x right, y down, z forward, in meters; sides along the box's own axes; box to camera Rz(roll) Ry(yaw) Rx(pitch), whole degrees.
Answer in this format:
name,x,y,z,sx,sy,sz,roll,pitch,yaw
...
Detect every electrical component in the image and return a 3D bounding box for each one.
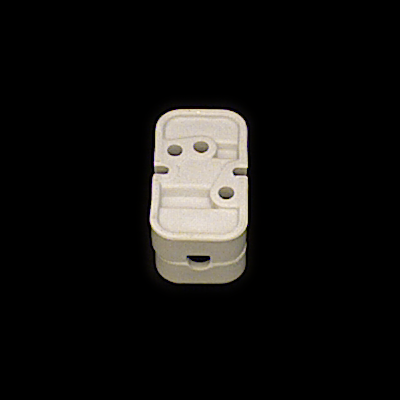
name,x,y,z,sx,sy,sz,roll,pitch,yaw
electrical component,0.000,0.000,0.635,0.054,0.095,0.059,1,-36,1
